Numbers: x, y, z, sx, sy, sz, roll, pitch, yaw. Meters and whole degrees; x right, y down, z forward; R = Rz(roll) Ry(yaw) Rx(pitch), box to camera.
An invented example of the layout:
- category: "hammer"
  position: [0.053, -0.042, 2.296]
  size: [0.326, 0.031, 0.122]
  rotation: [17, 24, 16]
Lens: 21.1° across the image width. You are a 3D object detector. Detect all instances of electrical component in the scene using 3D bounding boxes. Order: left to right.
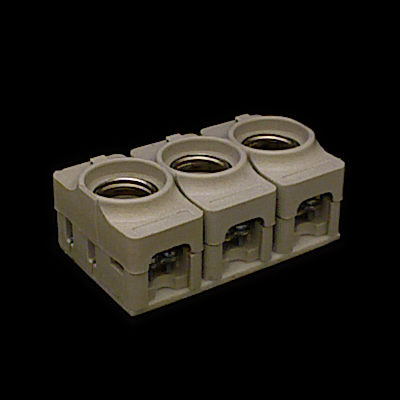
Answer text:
- category: "electrical component"
  position: [0.000, 0.000, 0.641]
  size: [0.149, 0.063, 0.088]
  rotation: [-18, 35, -30]
